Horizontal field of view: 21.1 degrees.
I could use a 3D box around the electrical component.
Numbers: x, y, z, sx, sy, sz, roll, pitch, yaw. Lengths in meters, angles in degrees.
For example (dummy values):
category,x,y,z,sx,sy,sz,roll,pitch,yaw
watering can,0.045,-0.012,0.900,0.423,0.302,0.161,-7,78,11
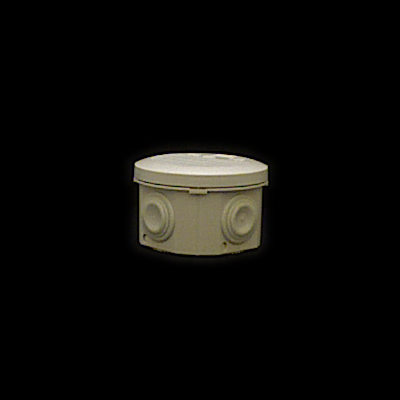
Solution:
category,x,y,z,sx,sy,sz,roll,pitch,yaw
electrical component,0.000,0.000,0.644,0.080,0.051,0.079,1,11,0
